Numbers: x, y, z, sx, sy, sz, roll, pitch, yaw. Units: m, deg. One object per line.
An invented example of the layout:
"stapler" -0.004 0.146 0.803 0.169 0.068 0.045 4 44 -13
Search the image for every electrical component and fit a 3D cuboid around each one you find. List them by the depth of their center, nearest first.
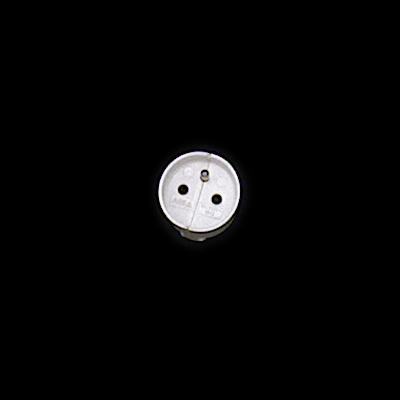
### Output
"electrical component" 0.000 0.000 0.616 0.043 0.043 0.080 0 -7 0
